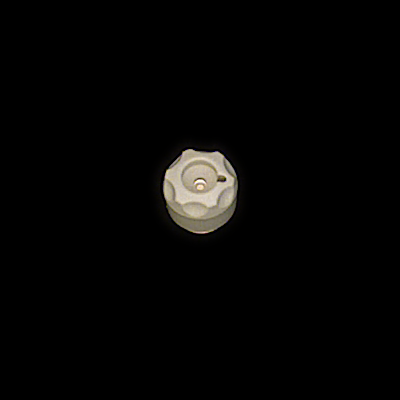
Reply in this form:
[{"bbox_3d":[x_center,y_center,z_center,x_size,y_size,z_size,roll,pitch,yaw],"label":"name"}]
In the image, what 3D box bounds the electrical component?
[{"bbox_3d":[0.000,0.000,0.634,0.043,0.043,0.062,0,-26,1],"label":"electrical component"}]
